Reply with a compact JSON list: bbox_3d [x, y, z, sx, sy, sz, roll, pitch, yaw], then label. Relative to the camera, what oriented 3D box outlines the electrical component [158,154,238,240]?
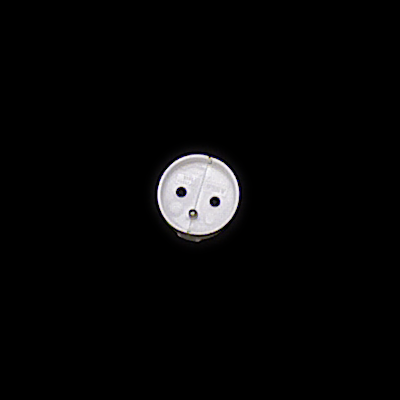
[{"bbox_3d":[0.000,0.000,0.615,0.043,0.043,0.080,0,-5,1],"label":"electrical component"}]
